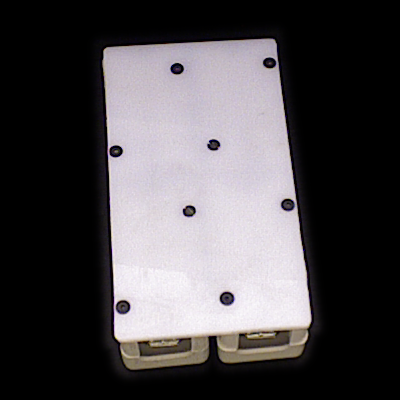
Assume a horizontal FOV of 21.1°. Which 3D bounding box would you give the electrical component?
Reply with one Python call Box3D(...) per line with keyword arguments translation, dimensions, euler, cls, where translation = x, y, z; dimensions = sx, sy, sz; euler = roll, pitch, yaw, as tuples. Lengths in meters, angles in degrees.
Box3D(translation=(0.000, 0.000, 0.625), dimensions=(0.105, 0.186, 0.060), euler=(-4, -27, -2), cls="electrical component")
